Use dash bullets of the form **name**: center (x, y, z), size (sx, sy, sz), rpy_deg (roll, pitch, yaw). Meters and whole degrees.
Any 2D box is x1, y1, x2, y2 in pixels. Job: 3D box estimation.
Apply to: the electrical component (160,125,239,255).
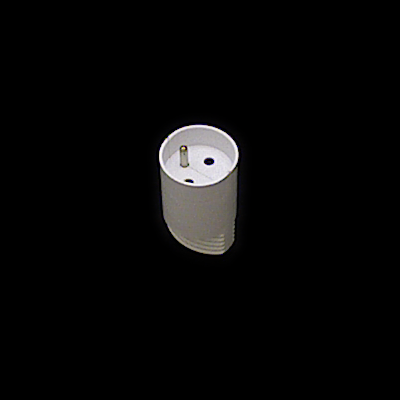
- **electrical component**: center (0.000, 0.000, 0.618), size (0.043, 0.043, 0.081), rpy_deg (0, -39, 0)
